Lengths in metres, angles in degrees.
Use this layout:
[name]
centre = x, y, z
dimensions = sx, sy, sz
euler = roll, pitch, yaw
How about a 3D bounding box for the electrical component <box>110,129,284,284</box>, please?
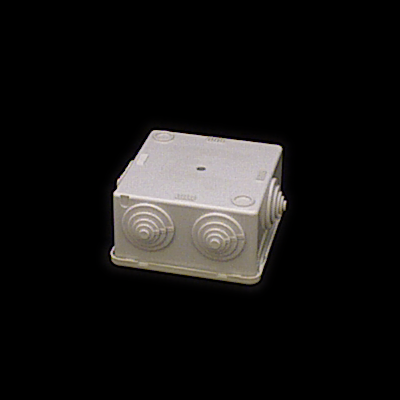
[electrical component]
centre = 0.000, 0.000, 0.637
dimensions = 0.099, 0.049, 0.099
euler = 8, 32, 11
